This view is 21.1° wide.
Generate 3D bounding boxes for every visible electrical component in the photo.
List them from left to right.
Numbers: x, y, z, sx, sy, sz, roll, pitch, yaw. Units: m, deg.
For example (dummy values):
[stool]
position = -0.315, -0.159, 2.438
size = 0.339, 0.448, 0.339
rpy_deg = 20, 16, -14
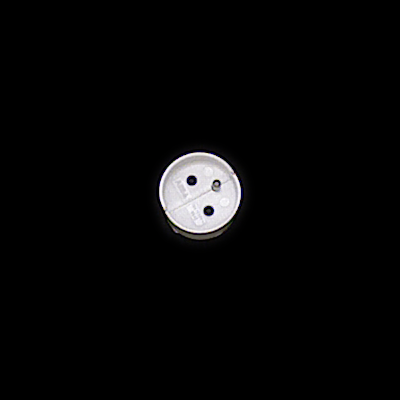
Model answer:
[electrical component]
position = 0.000, 0.000, 0.616
size = 0.043, 0.043, 0.080
rpy_deg = 0, -6, -1
